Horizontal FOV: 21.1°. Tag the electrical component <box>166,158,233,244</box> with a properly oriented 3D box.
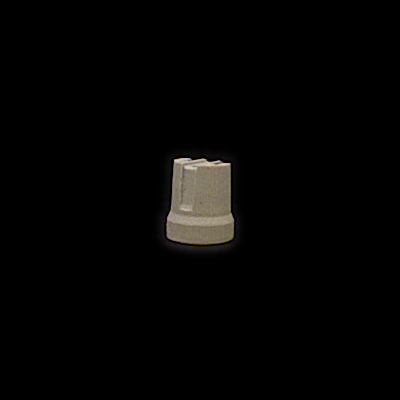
[{"bbox_3d":[0.000,0.000,0.646,0.040,0.046,0.040,1,12,0],"label":"electrical component"}]
